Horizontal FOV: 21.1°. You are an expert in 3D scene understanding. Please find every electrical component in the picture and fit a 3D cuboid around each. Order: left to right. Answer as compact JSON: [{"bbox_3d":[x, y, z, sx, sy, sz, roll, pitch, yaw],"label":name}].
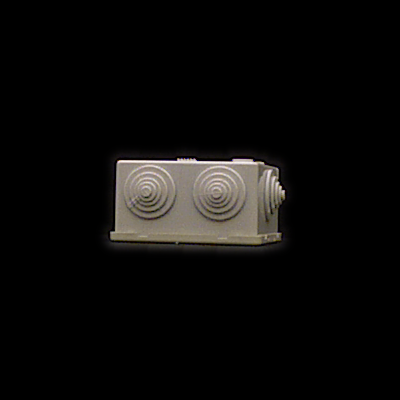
[{"bbox_3d":[0.000,0.000,0.650,0.099,0.048,0.100,1,0,12],"label":"electrical component"}]
